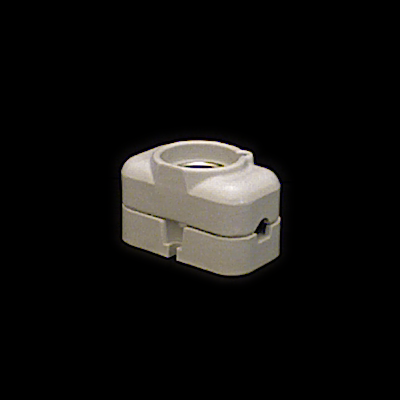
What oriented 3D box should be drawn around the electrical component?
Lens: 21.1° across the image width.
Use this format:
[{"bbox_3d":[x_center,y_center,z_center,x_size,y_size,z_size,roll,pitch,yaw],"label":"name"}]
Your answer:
[{"bbox_3d":[0.000,0.000,0.647,0.094,0.060,0.053,17,27,33],"label":"electrical component"}]
